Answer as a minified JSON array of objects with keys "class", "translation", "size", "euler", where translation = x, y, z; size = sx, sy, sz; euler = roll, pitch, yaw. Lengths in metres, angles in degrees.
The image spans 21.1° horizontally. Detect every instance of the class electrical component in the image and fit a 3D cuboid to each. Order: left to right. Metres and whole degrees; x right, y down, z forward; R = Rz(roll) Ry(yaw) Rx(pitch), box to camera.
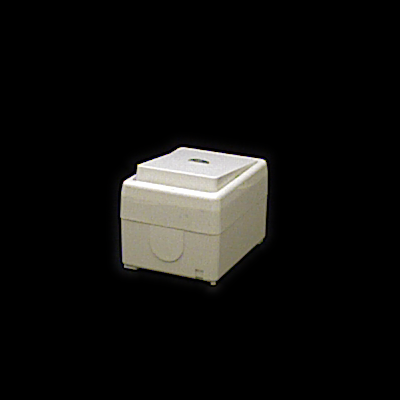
[{"class":"electrical component","translation":[0.000,0.000,0.641],"size":[0.061,0.061,0.095],"euler":[10,22,22]}]
